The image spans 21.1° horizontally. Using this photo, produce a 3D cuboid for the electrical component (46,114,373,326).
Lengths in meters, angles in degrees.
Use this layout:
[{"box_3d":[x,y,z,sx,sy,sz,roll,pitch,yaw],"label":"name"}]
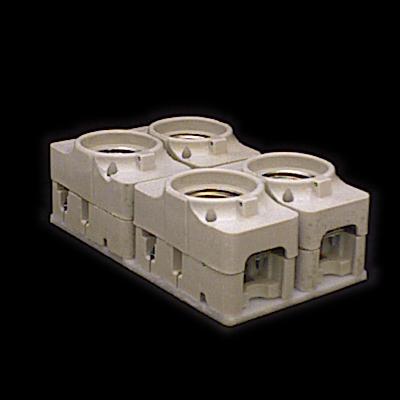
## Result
[{"box_3d":[0.000,0.000,0.639,0.105,0.061,0.184,-14,26,-35],"label":"electrical component"}]
